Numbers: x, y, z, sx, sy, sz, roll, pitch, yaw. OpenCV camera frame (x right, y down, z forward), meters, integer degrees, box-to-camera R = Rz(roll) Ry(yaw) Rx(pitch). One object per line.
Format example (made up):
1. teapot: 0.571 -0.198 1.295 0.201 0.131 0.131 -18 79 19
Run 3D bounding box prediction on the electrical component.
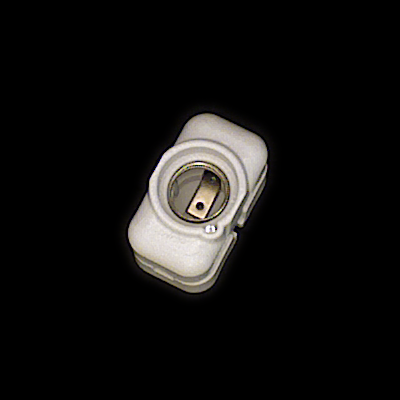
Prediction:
1. electrical component: 0.000 0.000 0.633 0.053 0.095 0.059 26 -14 8
